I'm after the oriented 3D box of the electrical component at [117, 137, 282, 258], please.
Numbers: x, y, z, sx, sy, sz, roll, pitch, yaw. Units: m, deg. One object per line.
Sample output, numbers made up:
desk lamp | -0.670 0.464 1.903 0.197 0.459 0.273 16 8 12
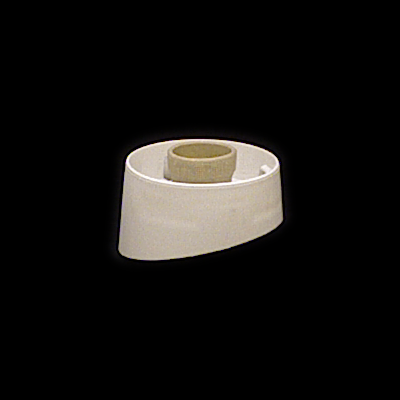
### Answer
electrical component | 0.000 0.000 0.639 0.099 0.065 0.097 1 21 0
